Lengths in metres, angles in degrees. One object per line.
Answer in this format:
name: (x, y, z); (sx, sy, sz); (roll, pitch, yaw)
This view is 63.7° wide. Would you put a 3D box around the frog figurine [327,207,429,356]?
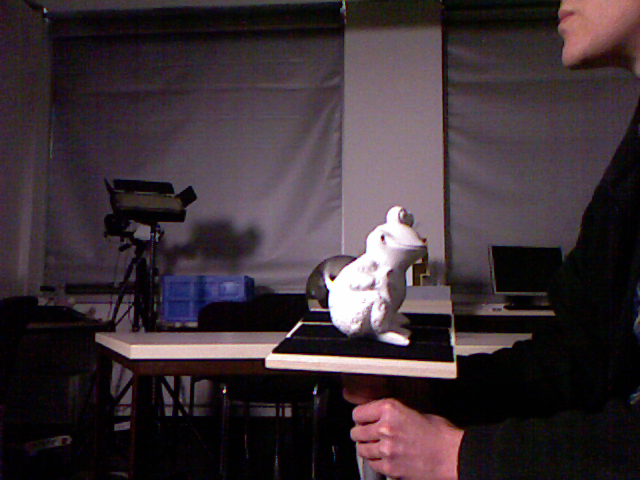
frog figurine: (0.067, 0.041, 0.618); (0.123, 0.159, 0.138); (1, 8, 26)
